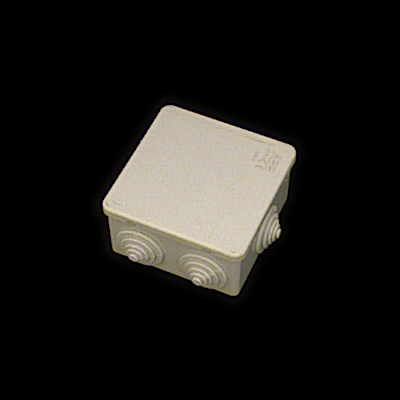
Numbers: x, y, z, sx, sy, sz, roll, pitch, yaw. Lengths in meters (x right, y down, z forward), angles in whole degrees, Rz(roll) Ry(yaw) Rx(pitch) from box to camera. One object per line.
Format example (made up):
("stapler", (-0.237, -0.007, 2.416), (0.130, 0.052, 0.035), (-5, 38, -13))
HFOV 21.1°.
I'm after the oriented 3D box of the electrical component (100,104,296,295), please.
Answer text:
("electrical component", (0.000, 0.000, 0.641), (0.099, 0.100, 0.049), (20, -35, 14))
